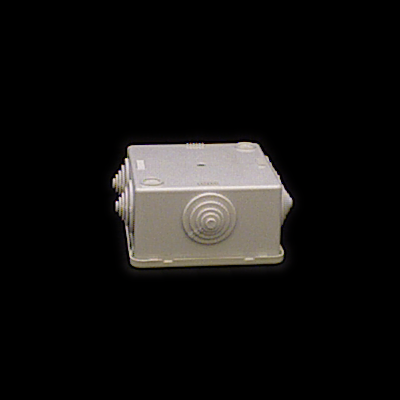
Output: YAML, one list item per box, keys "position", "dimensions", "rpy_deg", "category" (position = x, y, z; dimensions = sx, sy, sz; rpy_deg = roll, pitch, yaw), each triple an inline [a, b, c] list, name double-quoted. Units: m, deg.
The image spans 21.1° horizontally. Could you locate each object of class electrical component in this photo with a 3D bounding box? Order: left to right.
- position: [0.000, 0.000, 0.642]
  dimensions: [0.100, 0.049, 0.098]
  rpy_deg: [-1, 21, -7]
  category: "electrical component"
